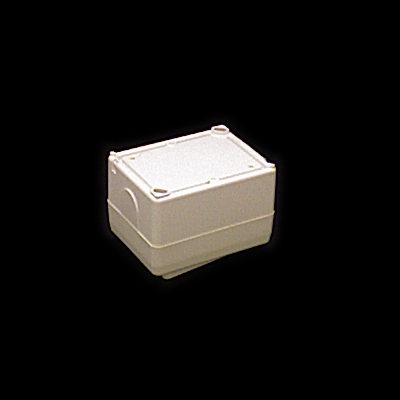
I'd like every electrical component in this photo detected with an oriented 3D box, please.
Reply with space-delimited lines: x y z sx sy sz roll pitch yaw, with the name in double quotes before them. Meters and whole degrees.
"electrical component" 0.000 0.000 0.633 0.096 0.061 0.061 -16 35 -26
